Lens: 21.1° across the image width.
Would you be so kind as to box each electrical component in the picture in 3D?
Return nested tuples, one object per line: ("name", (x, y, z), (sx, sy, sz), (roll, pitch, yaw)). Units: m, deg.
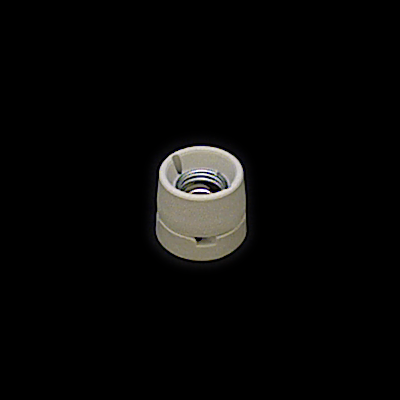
("electrical component", (0.000, 0.000, 0.637), (0.055, 0.047, 0.055), (0, 41, 0))
